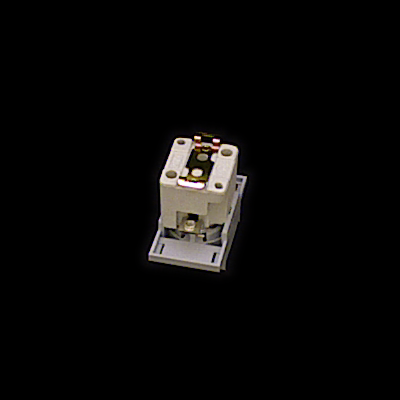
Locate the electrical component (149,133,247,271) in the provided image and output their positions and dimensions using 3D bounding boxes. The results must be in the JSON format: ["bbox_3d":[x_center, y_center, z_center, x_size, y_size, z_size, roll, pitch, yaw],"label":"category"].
[{"bbox_3d":[0.000,0.000,0.629,0.042,0.064,0.080,9,43,9],"label":"electrical component"}]
